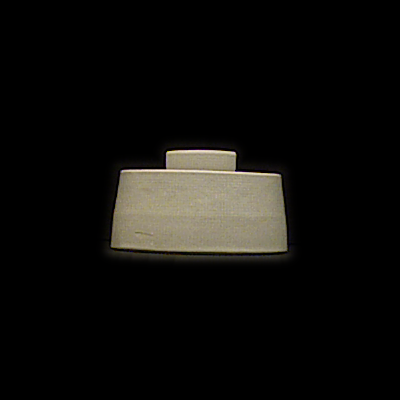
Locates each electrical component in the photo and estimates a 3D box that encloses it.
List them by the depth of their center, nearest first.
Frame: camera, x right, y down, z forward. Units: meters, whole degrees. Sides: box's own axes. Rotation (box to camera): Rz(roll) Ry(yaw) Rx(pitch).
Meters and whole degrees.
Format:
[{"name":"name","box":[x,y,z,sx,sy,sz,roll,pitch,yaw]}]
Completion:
[{"name":"electrical component","box":[0.000,0.000,0.658,0.108,0.060,0.108,1,0,1]}]
